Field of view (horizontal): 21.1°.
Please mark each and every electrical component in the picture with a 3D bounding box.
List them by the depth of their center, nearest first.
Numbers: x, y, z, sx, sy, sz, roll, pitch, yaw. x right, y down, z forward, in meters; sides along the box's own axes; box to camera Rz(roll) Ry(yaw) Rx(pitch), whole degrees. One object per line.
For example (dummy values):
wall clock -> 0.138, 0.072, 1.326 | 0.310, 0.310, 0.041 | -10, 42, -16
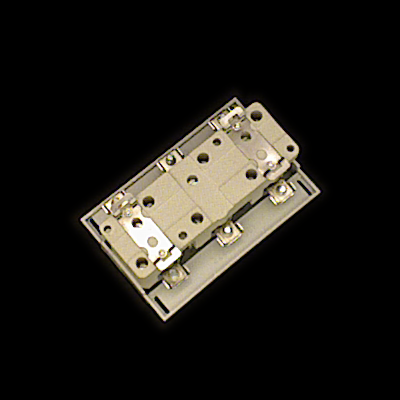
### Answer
electrical component -> 0.000, 0.000, 0.633 | 0.122, 0.079, 0.062 | -39, -12, -10
